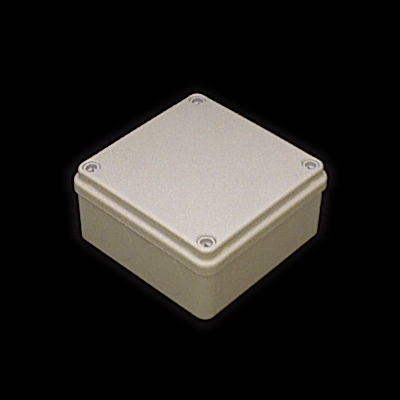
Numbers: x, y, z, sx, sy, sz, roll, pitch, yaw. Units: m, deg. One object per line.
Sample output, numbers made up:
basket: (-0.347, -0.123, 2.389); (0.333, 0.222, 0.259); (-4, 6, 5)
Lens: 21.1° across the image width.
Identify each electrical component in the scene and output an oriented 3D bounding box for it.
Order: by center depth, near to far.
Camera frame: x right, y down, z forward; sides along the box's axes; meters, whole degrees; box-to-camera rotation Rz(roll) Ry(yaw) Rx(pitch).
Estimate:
electrical component: (0.000, 0.000, 0.632); (0.108, 0.056, 0.108); (32, 51, 29)
